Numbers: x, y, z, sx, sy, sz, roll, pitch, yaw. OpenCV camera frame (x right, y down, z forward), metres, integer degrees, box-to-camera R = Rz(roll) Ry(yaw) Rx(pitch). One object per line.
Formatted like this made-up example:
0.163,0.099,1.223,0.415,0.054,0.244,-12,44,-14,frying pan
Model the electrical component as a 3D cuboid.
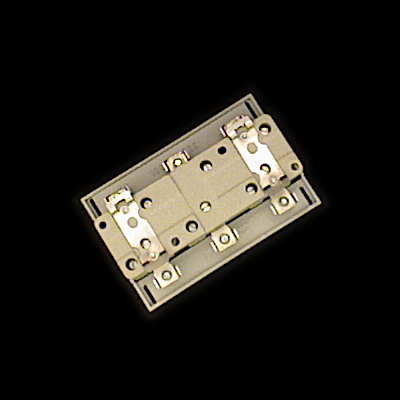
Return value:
0.000,0.000,0.635,0.122,0.079,0.063,-32,-6,-3,electrical component
